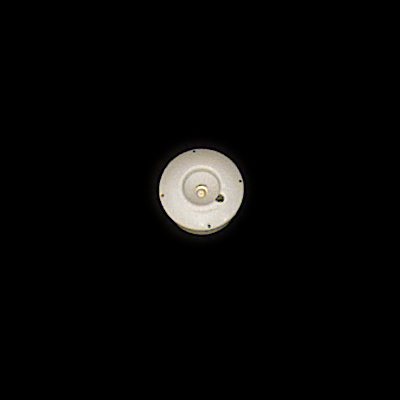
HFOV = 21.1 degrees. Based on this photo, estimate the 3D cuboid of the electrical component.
[{"bbox_3d":[0.000,0.000,0.634,0.048,0.048,0.062,0,-16,1],"label":"electrical component"}]
